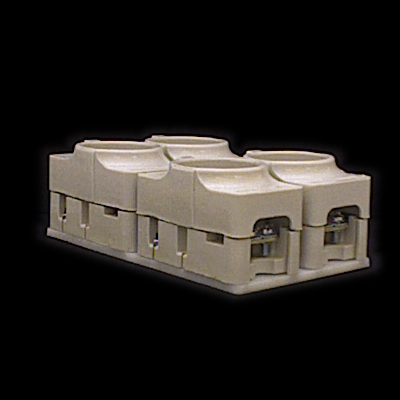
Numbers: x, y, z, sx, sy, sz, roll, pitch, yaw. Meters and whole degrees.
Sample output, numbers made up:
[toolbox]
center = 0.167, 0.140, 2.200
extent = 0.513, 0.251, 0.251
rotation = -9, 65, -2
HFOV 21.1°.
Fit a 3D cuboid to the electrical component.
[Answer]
[electrical component]
center = 0.000, 0.000, 0.643
extent = 0.105, 0.060, 0.184
rotation = -7, 13, -39
